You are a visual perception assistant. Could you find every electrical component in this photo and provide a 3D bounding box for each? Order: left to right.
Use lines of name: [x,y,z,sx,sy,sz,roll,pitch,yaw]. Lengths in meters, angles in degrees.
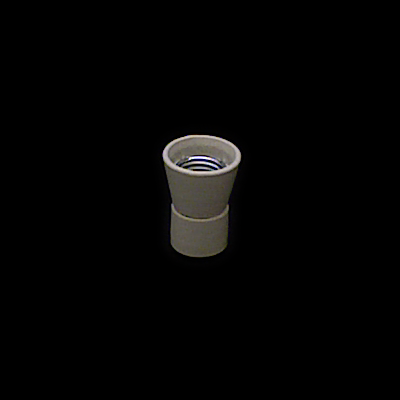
electrical component: [0.000,0.000,0.632,0.044,0.066,0.044,1,32,-1]
